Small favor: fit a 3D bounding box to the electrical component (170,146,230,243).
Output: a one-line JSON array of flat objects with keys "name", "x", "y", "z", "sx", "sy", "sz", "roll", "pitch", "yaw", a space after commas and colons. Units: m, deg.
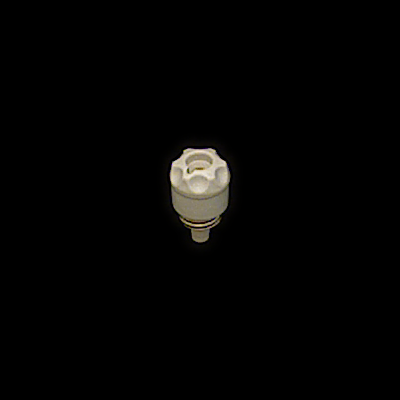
[{"name": "electrical component", "x": 0.000, "y": 0.000, "z": 0.637, "sx": 0.035, "sy": 0.062, "sz": 0.035, "roll": 0, "pitch": 43, "yaw": 0}]
